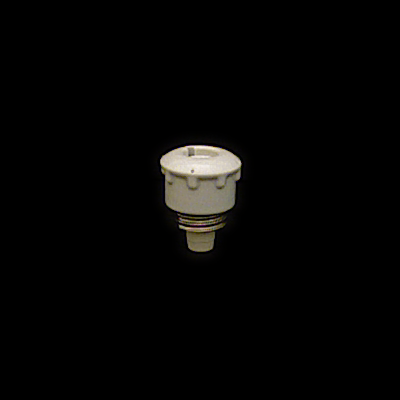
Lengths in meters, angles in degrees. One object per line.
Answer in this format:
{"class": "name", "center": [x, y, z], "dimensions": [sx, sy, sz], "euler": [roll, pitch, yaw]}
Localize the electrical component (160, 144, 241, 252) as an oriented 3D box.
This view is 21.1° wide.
{"class": "electrical component", "center": [0.000, 0.000, 0.644], "dimensions": [0.048, 0.062, 0.047], "euler": [1, 21, 0]}
